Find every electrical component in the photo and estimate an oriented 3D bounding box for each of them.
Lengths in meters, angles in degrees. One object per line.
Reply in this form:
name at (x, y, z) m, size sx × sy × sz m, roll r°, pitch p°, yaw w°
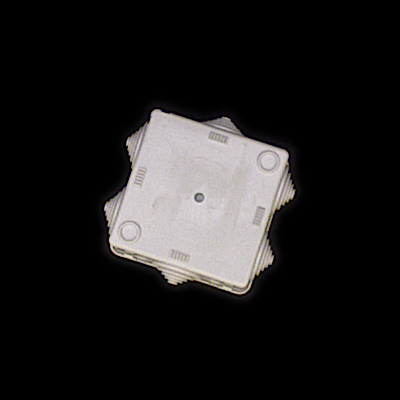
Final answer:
electrical component at (0.000, 0.000, 0.633) m, size 0.100 × 0.100 × 0.048 m, roll 18°, pitch -7°, yaw 2°
